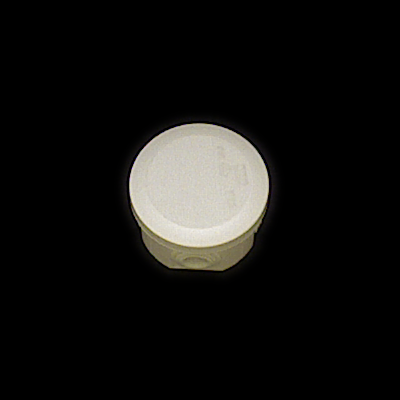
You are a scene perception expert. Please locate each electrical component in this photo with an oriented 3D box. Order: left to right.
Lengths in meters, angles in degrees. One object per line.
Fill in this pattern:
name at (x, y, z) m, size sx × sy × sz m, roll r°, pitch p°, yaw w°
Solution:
electrical component at (0.000, 0.000, 0.629) m, size 0.080 × 0.080 × 0.050 m, roll 0°, pitch -27°, yaw 0°
